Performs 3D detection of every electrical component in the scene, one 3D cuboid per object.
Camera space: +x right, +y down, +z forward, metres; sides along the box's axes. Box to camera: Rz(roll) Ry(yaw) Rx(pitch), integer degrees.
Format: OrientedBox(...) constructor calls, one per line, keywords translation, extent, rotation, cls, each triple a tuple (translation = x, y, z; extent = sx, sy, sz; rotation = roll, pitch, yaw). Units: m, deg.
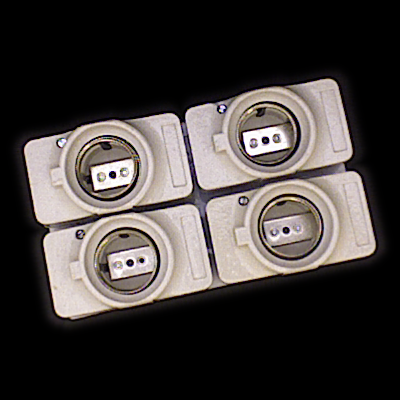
OrientedBox(translation=(0.000, 0.000, 0.626), extent=(0.186, 0.106, 0.060), rotation=(-12, -7, -1), cls="electrical component")
